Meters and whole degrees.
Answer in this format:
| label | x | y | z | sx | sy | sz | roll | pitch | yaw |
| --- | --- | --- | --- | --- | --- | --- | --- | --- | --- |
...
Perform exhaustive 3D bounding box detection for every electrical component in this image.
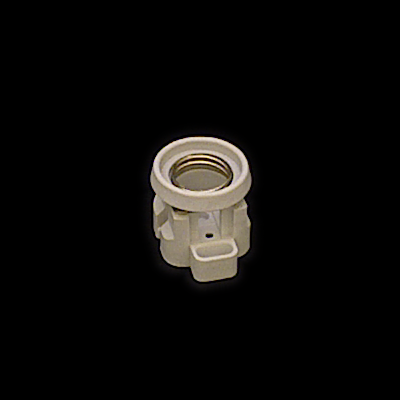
| label | x | y | z | sx | sy | sz | roll | pitch | yaw |
| --- | --- | --- | --- | --- | --- | --- | --- | --- | --- |
| electrical component | 0.000 | 0.000 | 0.632 | 0.058 | 0.057 | 0.077 | -10 | 43 | -11 |
